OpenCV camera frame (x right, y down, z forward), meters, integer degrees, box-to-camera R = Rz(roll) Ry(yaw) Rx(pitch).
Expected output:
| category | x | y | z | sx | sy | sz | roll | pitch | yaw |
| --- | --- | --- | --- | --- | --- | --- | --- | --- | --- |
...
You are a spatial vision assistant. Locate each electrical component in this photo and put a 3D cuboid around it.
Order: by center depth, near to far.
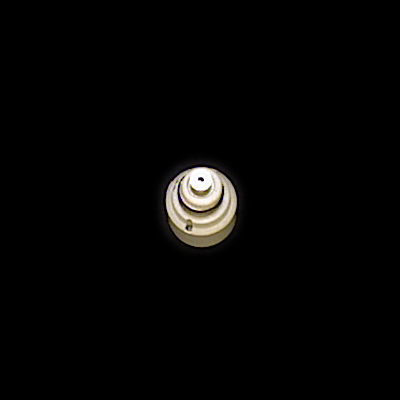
| category | x | y | z | sx | sy | sz | roll | pitch | yaw |
| --- | --- | --- | --- | --- | --- | --- | --- | --- | --- |
| electrical component | 0.000 | 0.000 | 0.618 | 0.040 | 0.040 | 0.078 | 0 | -16 | 0 |
